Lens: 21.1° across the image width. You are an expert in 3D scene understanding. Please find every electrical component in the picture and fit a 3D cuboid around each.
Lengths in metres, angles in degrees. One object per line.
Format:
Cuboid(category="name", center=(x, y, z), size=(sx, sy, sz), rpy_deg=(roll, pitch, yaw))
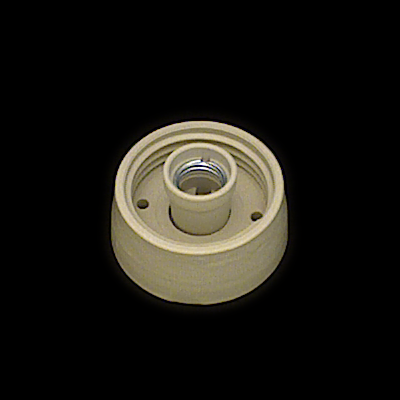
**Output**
Cuboid(category="electrical component", center=(0.000, 0.000, 0.634), size=(0.108, 0.107, 0.060), rpy_deg=(0, -37, -1))
